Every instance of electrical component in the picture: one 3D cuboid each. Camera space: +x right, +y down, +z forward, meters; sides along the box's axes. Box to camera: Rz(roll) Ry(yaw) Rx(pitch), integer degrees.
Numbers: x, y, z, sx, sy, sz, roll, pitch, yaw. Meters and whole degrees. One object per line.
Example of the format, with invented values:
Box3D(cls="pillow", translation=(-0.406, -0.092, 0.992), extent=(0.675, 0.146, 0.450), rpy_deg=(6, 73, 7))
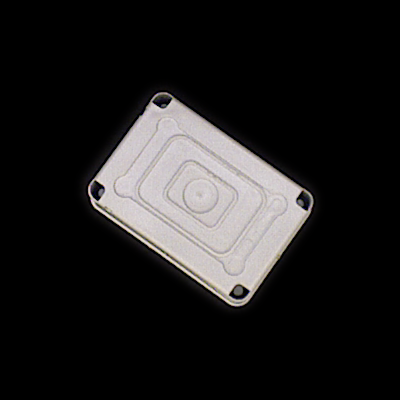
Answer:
Box3D(cls="electrical component", translation=(0.000, 0.000, 0.629), extent=(0.113, 0.078, 0.057), rpy_deg=(36, -5, 3))
